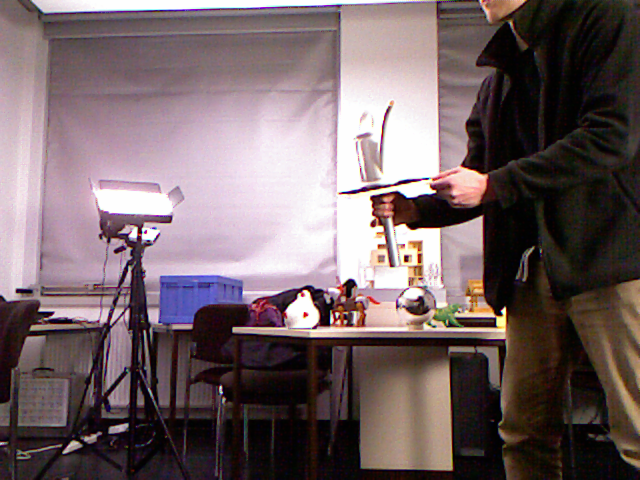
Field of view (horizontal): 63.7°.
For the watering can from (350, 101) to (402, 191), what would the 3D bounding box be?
[{"bbox_3d":[0.142,-0.222,1.257,0.104,0.223,0.349,-13,8,-7],"label":"watering can"}]
